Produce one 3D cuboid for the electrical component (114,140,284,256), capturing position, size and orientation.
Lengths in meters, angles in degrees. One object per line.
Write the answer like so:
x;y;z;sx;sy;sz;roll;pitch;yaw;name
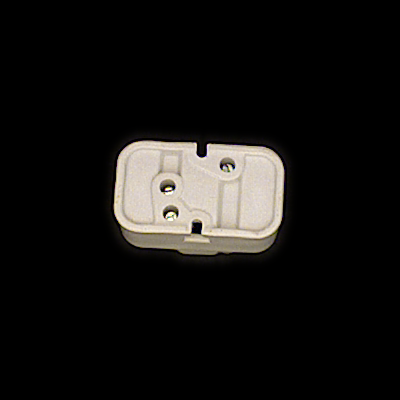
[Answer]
0.000;0.000;0.635;0.095;0.054;0.059;3;-16;0;electrical component
